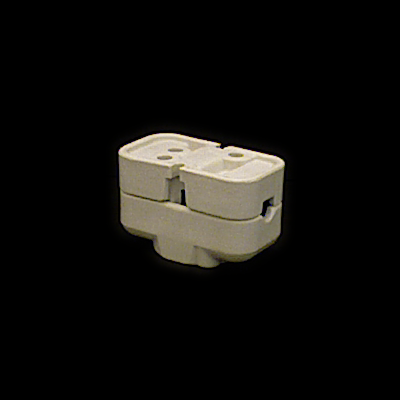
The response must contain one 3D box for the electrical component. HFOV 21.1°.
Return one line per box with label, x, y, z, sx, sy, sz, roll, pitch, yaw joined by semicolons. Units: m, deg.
electrical component;0.000;0.000;0.643;0.094;0.060;0.053;15;26;29
